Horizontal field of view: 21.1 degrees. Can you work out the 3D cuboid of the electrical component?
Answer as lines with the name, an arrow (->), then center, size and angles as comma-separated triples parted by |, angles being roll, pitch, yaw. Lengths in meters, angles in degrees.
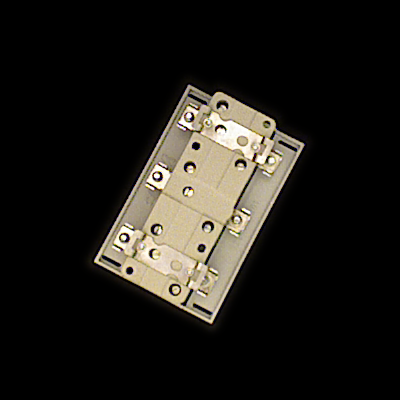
electrical component -> 0.000, 0.000, 0.634 | 0.079, 0.122, 0.063 | 27, -5, 2
